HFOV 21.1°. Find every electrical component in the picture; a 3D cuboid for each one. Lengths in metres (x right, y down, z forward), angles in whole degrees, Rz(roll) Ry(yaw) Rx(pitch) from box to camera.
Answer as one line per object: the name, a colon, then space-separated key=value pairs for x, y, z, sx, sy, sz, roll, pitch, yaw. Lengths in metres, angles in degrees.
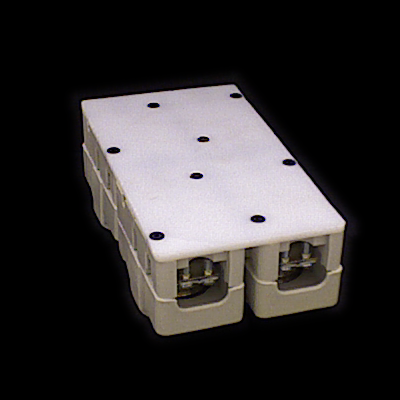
electrical component: x=0.000 y=0.000 z=0.634 sx=0.105 sy=0.061 sz=0.183 roll=-9 pitch=33 yaw=-15
